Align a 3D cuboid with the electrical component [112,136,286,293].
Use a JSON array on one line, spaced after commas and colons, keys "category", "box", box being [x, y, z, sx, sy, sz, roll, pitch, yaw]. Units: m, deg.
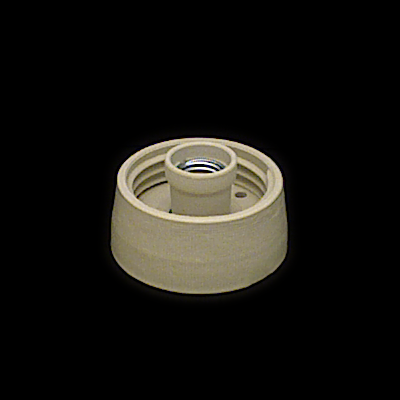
[{"category": "electrical component", "box": [0.000, 0.000, 0.641, 0.108, 0.061, 0.106, 1, 32, 0]}]
